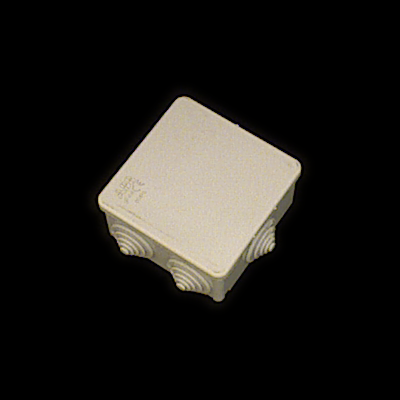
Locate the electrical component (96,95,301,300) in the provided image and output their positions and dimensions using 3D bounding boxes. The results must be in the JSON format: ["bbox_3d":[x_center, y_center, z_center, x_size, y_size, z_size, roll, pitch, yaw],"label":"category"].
[{"bbox_3d":[0.000,0.000,0.639,0.099,0.100,0.048,31,-22,14],"label":"electrical component"}]
